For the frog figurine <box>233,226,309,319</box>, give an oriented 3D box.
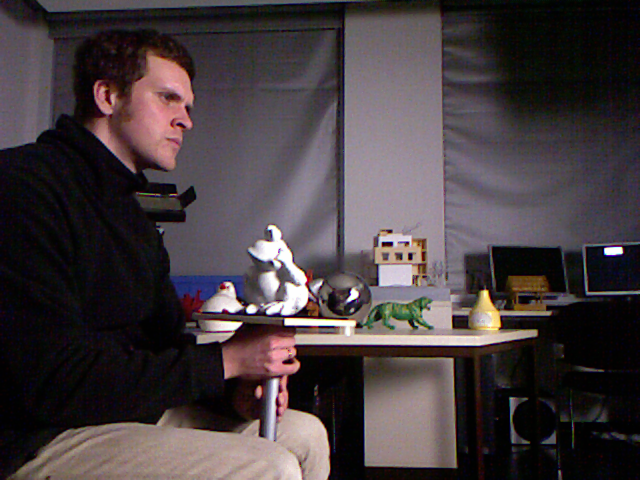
[{"bbox_3d":[-0.080,0.056,0.895,0.122,0.160,0.137,6,-5,-35],"label":"frog figurine"}]
